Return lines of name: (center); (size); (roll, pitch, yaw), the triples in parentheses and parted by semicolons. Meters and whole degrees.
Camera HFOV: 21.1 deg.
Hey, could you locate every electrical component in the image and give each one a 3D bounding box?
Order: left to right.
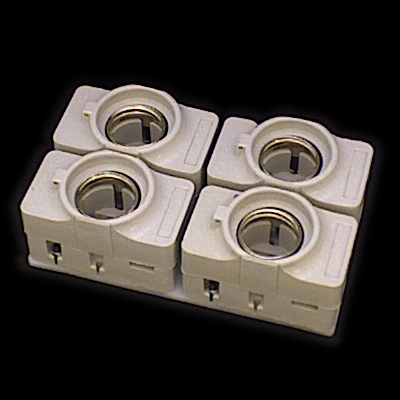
electrical component: (0.000, 0.000, 0.627); (0.186, 0.105, 0.060); (13, -37, 9)
